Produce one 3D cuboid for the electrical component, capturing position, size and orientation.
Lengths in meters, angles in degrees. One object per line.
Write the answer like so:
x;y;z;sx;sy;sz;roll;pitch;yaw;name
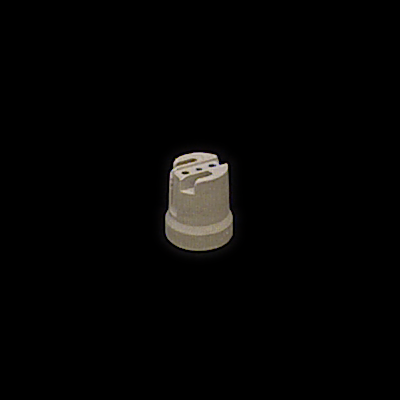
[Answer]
0.000;0.000;0.638;0.040;0.046;0.040;1;31;0;electrical component
